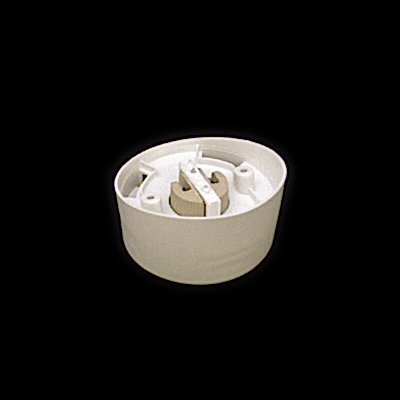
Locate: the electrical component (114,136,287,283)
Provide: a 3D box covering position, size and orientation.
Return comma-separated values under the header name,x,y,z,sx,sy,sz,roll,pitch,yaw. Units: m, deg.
name,x,y,z,sx,sy,sz,roll,pitch,yaw
electrical component,0.000,0.000,0.629,0.099,0.065,0.098,1,42,-1
